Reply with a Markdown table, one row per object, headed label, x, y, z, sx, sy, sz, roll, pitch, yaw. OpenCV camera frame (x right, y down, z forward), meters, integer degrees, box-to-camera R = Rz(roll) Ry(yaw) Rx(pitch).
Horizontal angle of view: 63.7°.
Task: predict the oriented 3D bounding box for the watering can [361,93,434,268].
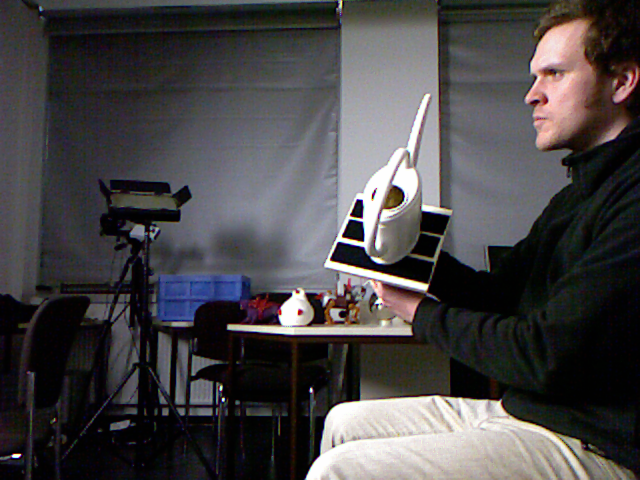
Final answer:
| label | x | y | z | sx | sy | sz | roll | pitch | yaw |
| --- | --- | --- | --- | --- | --- | --- | --- | --- | --- |
| watering can | 0.156 | -0.096 | 0.976 | 0.105 | 0.356 | 0.220 | 17 | -31 | 20 |
